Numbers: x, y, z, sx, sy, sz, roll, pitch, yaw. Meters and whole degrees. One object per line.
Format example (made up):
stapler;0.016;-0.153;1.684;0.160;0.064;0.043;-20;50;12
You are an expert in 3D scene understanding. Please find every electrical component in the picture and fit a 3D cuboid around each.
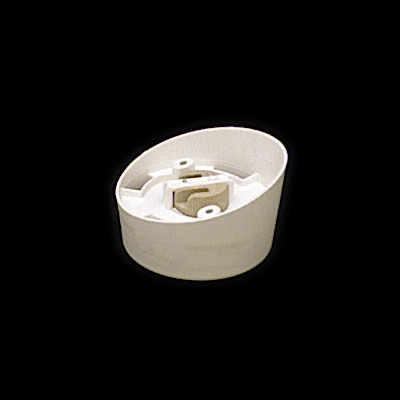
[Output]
electrical component;0.000;0.000;0.634;0.099;0.065;0.097;1;30;-1
